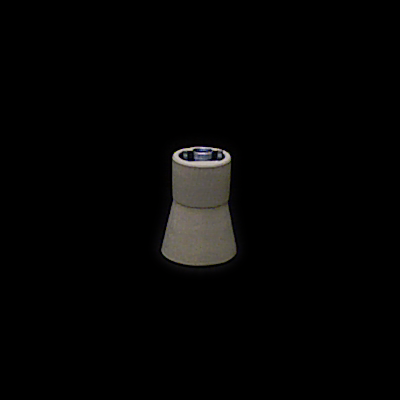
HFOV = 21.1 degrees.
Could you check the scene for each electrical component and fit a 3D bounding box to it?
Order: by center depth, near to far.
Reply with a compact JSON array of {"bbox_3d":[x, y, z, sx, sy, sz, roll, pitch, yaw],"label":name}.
[{"bbox_3d":[0.000,0.000,0.636,0.044,0.066,0.044,1,22,0],"label":"electrical component"}]
